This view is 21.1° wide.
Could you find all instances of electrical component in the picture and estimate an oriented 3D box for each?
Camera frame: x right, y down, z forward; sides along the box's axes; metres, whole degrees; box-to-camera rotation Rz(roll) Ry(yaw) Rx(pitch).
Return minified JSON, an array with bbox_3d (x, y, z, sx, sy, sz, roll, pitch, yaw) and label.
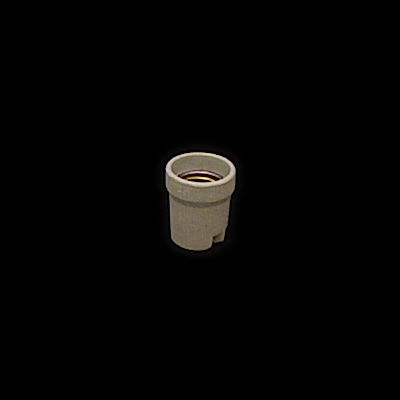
[{"bbox_3d":[0.000,0.000,0.636,0.040,0.047,0.039,1,32,0],"label":"electrical component"}]
